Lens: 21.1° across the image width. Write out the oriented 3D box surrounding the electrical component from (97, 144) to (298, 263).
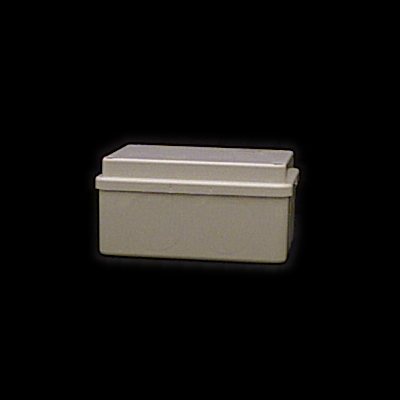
[{"bbox_3d":[0.000,0.000,0.646,0.113,0.057,0.077,2,11,8],"label":"electrical component"}]
